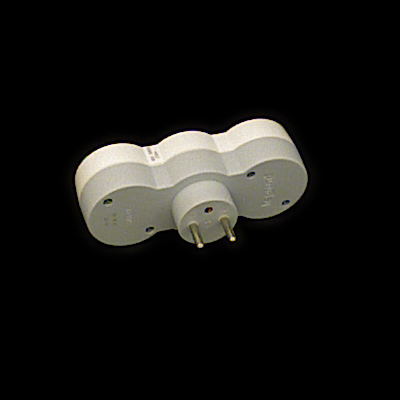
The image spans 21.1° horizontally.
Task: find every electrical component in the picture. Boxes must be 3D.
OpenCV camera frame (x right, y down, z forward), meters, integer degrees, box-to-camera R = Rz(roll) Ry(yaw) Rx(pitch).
[{"bbox_3d":[0.000,0.000,0.638,0.139,0.052,0.073,-11,45,-13],"label":"electrical component"}]
